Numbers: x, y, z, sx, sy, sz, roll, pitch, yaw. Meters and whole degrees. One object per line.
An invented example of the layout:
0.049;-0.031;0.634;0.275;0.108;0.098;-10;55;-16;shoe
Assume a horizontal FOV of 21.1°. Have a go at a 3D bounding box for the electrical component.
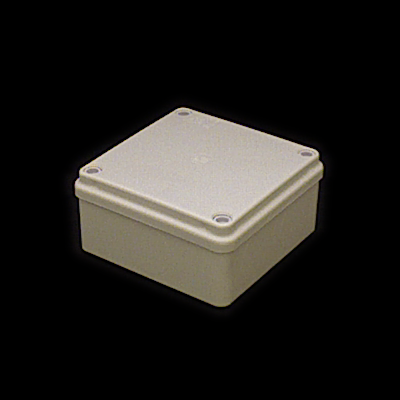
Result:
0.000;0.000;0.634;0.108;0.057;0.108;21;37;29;electrical component
